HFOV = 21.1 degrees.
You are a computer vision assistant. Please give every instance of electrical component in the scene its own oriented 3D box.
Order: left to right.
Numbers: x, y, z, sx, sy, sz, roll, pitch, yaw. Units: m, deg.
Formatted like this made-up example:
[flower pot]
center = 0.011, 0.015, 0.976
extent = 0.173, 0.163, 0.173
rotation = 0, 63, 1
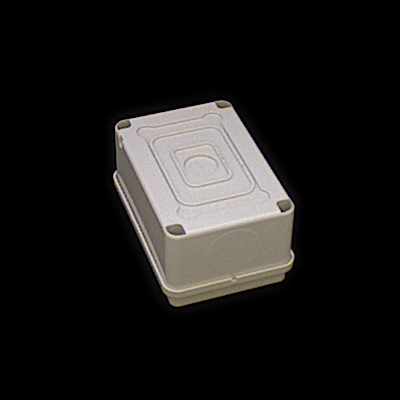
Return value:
[electrical component]
center = 0.000, 0.000, 0.631
extent = 0.078, 0.057, 0.112
rotation = -13, 44, -15
